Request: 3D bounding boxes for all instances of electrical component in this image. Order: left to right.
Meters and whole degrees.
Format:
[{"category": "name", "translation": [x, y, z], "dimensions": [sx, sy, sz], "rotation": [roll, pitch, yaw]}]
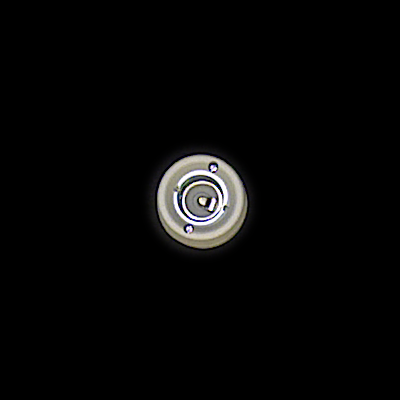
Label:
[{"category": "electrical component", "translation": [0.000, 0.000, 0.633], "dimensions": [0.055, 0.055, 0.047], "rotation": [0, -6, 1]}]
